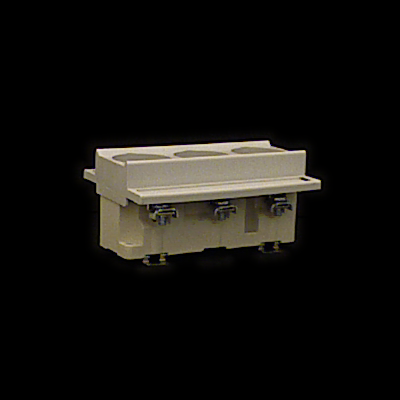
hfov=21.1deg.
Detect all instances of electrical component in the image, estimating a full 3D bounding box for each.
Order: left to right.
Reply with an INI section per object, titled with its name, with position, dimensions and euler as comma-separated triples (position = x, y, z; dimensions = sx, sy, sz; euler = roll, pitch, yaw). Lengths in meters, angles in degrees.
[electrical component]
position = 0.000, 0.000, 0.656
dimensions = 0.121, 0.063, 0.078
euler = -5, 14, -29
